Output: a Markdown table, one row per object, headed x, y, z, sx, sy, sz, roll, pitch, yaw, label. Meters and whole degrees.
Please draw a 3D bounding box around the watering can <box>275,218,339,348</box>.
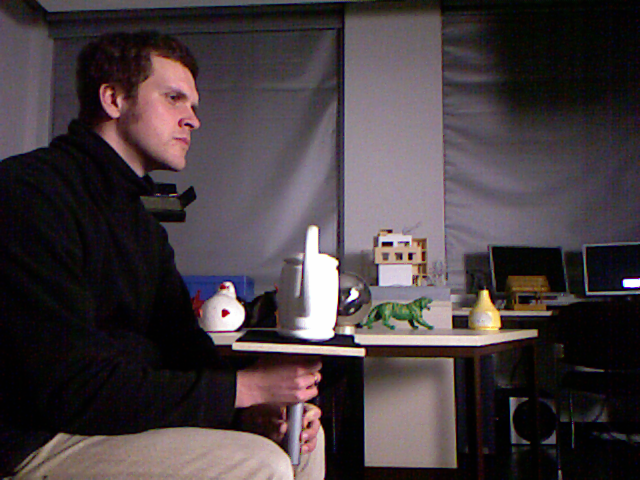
| x | y | z | sx | sy | sz | roll | pitch | yaw | label |
| --- | --- | --- | --- | --- | --- | --- | --- | --- | --- |
| -0.020 | 0.074 | 0.930 | 0.104 | 0.225 | 0.347 | 4 | 0 | -1 | watering can |
